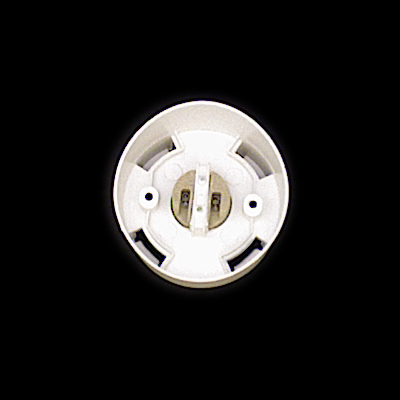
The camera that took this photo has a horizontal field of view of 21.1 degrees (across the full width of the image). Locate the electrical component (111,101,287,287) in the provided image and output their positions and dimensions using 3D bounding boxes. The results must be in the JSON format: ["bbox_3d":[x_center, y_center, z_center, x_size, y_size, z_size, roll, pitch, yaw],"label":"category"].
[{"bbox_3d":[0.000,0.000,0.623,0.099,0.099,0.064,0,-18,1],"label":"electrical component"}]
